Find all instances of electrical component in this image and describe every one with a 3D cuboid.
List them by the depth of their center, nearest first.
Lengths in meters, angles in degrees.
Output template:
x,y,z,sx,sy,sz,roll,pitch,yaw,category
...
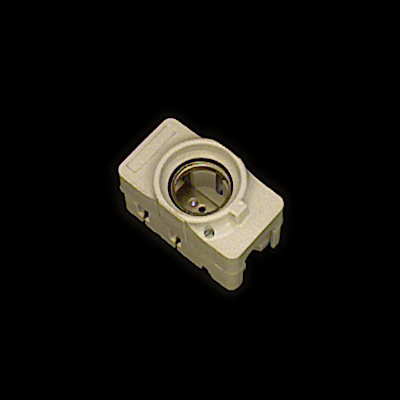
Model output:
x,y,z,sx,sy,sz,roll,pitch,yaw,category
0.000,0.000,0.635,0.089,0.050,0.055,37,-20,17,electrical component
